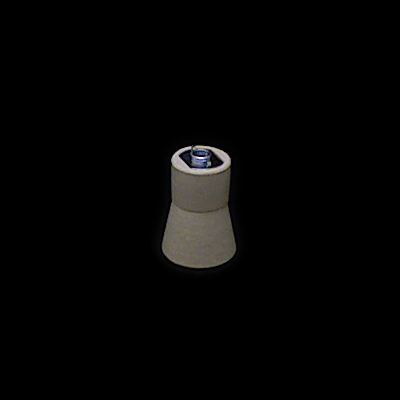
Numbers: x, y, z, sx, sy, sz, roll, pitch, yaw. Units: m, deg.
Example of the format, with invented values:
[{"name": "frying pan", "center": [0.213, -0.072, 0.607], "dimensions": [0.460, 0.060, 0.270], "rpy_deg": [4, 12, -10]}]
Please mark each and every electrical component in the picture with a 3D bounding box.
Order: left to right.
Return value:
[{"name": "electrical component", "center": [0.000, 0.000, 0.633], "dimensions": [0.044, 0.066, 0.044], "rpy_deg": [1, 31, -1]}]
